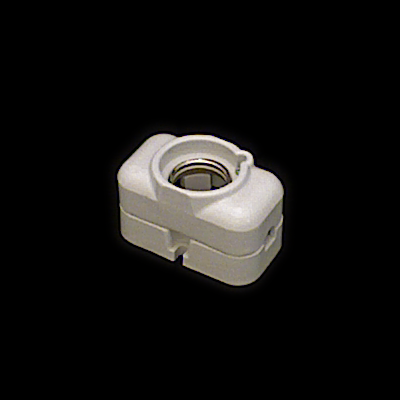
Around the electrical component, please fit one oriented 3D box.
[{"bbox_3d":[0.000,0.000,0.639,0.094,0.060,0.053,22,47,21],"label":"electrical component"}]
